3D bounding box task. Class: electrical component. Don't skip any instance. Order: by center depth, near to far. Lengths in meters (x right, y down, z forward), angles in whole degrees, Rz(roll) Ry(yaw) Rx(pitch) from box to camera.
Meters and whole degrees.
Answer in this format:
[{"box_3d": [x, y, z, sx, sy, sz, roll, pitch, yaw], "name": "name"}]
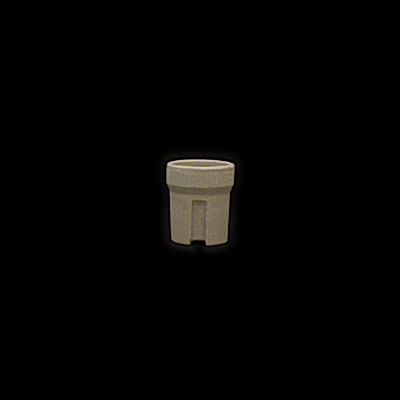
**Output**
[{"box_3d": [0.000, 0.000, 0.646, 0.040, 0.046, 0.040, 1, 11, 0], "name": "electrical component"}]
